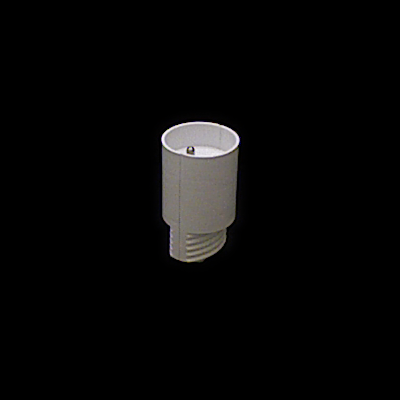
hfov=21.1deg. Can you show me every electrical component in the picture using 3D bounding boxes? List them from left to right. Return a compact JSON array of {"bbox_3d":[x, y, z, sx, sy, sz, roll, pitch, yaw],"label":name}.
[{"bbox_3d":[0.000,0.000,0.626,0.043,0.082,0.042,0,32,0],"label":"electrical component"}]
